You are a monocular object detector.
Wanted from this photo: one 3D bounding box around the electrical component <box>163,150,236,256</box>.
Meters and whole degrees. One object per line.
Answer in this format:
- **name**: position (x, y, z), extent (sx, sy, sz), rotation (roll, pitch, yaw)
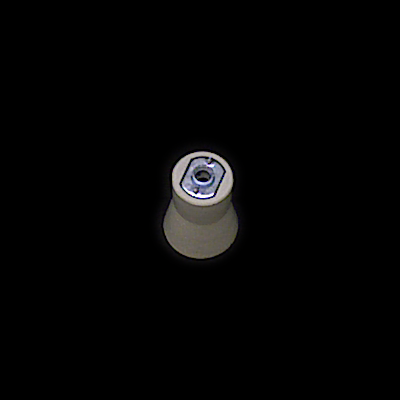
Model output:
- **electrical component**: position (0.000, 0.000, 0.624), extent (0.044, 0.044, 0.065), rotation (0, -27, -1)
